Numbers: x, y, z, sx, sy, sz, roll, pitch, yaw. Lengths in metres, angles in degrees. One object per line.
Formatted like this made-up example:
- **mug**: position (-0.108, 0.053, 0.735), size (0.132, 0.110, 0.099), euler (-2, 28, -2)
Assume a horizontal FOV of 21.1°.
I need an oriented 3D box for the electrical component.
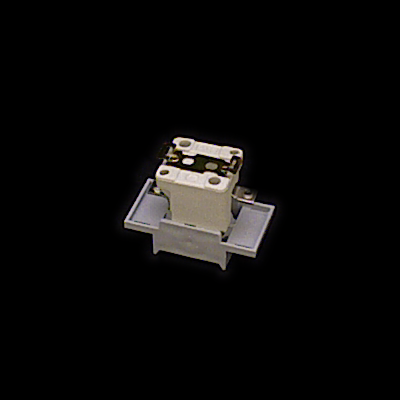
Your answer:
- **electrical component**: position (0.000, 0.000, 0.629), size (0.081, 0.064, 0.042), euler (12, 44, 12)
